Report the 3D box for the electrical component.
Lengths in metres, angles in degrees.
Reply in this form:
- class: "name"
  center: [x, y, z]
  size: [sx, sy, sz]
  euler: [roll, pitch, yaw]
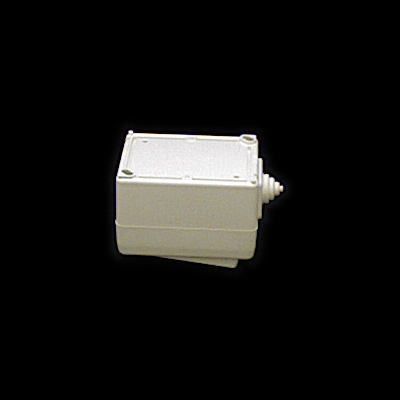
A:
- class: "electrical component"
  center: [0.000, 0.000, 0.636]
  size: [0.096, 0.061, 0.061]
  euler: [2, 31, 2]
